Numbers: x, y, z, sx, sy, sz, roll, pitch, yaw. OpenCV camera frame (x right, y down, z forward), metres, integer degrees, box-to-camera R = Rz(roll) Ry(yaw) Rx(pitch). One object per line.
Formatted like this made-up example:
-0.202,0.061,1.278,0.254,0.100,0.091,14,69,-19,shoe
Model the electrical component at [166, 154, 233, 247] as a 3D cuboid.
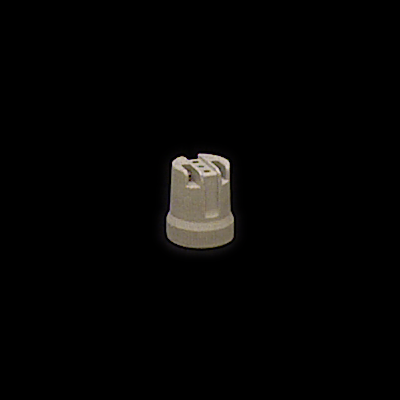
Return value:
0.000,0.000,0.640,0.040,0.046,0.040,0,21,0,electrical component
